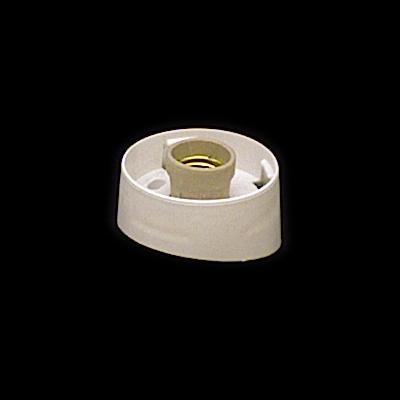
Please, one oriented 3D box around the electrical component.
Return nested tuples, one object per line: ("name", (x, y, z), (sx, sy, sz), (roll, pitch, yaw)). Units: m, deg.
("electrical component", (0.000, 0.000, 0.633), (0.099, 0.065, 0.097), (1, 31, 0))
